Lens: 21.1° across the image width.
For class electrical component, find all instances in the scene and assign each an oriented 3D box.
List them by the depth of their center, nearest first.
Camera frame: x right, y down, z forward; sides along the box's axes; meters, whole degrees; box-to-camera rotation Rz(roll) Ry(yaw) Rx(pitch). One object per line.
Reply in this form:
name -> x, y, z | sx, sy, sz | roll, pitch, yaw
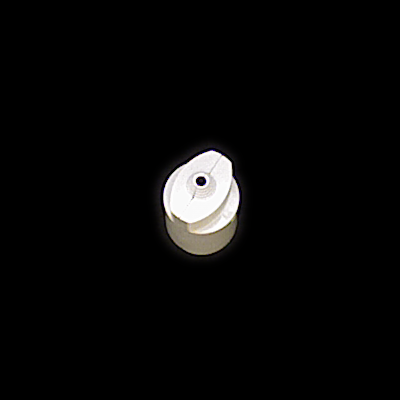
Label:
electrical component -> 0.000, 0.000, 0.616 | 0.043, 0.043, 0.080 | 0, -17, 0
